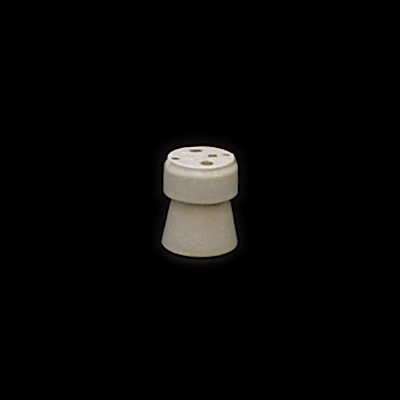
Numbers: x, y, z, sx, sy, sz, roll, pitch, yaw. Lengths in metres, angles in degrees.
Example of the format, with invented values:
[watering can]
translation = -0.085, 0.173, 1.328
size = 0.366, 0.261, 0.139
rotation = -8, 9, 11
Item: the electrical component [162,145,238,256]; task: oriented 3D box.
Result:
[electrical component]
translation = 0.000, 0.000, 0.638
size = 0.045, 0.056, 0.044
rotation = 1, 22, 0
